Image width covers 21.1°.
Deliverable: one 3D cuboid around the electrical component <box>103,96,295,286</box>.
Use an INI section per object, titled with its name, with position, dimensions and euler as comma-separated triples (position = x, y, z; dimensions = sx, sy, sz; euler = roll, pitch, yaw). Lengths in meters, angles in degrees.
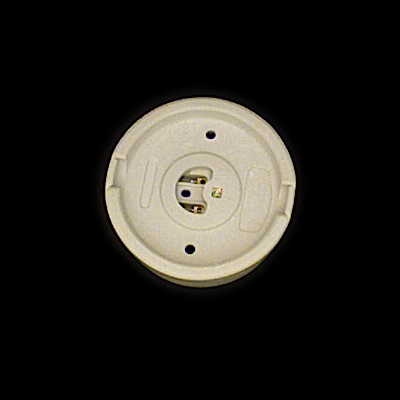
[electrical component]
position = 0.000, 0.000, 0.634
dimensions = 0.108, 0.108, 0.060
euler = 0, -16, 1
